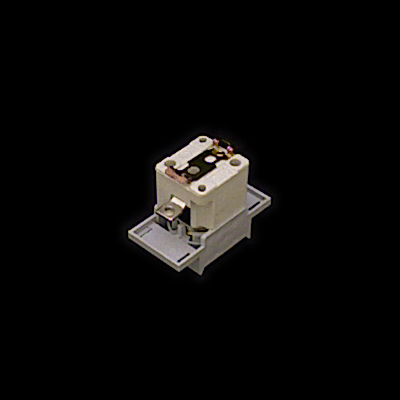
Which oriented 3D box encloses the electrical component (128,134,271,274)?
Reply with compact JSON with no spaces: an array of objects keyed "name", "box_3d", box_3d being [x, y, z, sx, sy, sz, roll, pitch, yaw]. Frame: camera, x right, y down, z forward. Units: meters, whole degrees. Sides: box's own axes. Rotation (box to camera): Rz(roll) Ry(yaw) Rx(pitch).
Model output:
[{"name":"electrical component","box_3d":[0.000,0.000,0.630,0.042,0.064,0.080,32,51,30]}]
